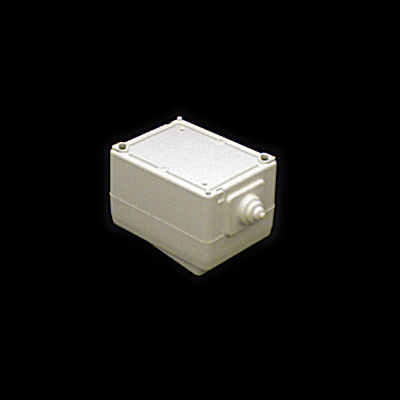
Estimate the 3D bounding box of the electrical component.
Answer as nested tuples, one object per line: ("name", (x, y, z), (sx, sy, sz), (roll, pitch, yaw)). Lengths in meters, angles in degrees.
("electrical component", (0.000, 0.000, 0.631), (0.096, 0.061, 0.061), (26, 38, 35))
